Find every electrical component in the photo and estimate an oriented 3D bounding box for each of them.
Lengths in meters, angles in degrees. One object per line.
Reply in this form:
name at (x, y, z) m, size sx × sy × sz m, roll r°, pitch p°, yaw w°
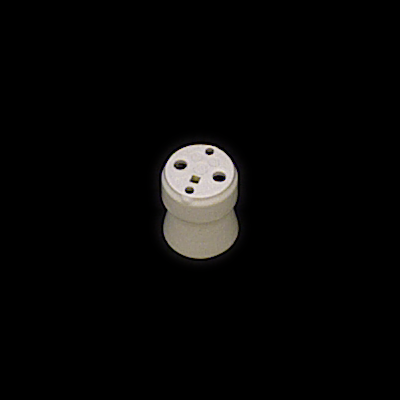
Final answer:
electrical component at (0.000, 0.000, 0.630) m, size 0.045 × 0.044 × 0.055 m, roll 0°, pitch -38°, yaw 0°
